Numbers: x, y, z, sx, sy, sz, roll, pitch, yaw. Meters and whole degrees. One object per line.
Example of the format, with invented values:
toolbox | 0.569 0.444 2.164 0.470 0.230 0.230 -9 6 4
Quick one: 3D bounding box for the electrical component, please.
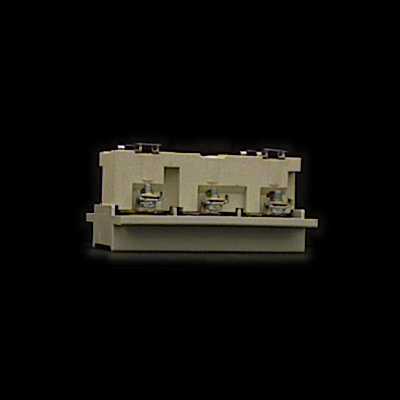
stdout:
electrical component | 0.000 0.000 0.654 0.122 0.063 0.078 1 1 -21
